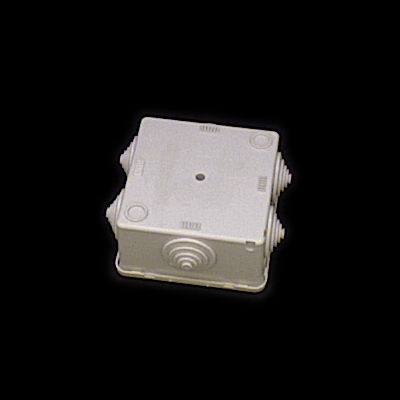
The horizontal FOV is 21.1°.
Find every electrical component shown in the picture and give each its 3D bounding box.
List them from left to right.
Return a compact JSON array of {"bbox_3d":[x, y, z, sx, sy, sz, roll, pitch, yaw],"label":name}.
[{"bbox_3d":[0.000,0.000,0.632,0.100,0.099,0.049,7,-37,5],"label":"electrical component"}]
